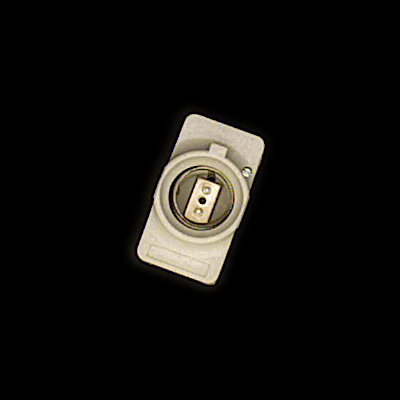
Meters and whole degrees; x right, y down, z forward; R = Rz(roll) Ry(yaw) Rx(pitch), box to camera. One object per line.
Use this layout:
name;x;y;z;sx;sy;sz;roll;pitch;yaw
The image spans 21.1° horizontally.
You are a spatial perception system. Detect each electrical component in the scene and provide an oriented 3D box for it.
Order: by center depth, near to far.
electrical component;0.000;0.000;0.637;0.050;0.090;0.055;20;-5;3
